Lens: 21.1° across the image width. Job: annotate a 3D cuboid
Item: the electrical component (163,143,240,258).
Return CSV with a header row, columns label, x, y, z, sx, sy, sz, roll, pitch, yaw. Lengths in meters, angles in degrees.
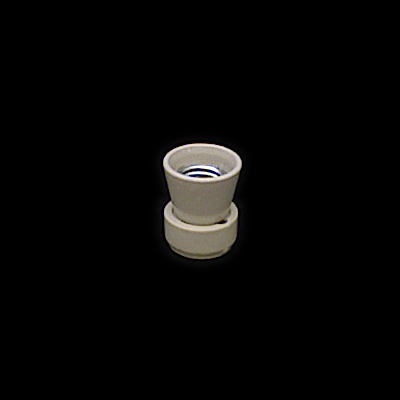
label,x,y,z,sx,sy,sz,roll,pitch,yaw
electrical component,0.000,0.000,0.637,0.045,0.056,0.044,1,31,-1
